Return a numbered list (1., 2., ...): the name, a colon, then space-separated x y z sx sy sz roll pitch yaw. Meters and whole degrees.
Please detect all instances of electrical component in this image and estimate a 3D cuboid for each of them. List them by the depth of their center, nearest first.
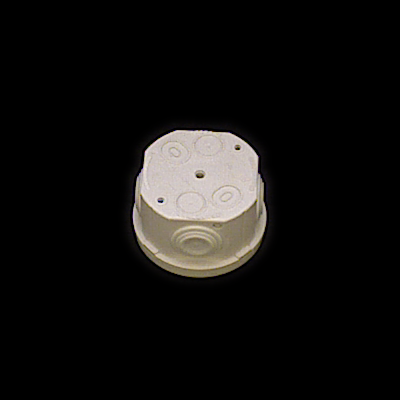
1. electrical component: 0.000 0.000 0.633 0.080 0.080 0.051 0 -38 -1
